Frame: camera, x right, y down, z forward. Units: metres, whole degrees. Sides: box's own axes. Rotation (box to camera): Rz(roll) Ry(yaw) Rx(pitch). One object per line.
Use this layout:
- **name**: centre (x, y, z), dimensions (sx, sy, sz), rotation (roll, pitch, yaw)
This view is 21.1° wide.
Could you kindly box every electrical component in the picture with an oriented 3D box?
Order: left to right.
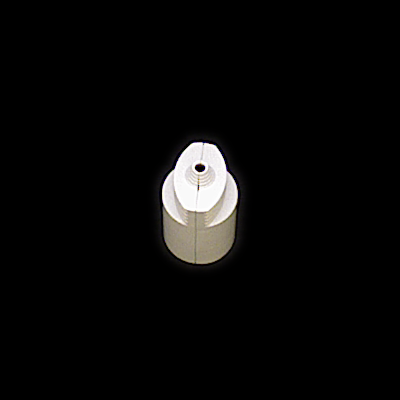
- **electrical component**: centre (0.000, 0.000, 0.617), dimensions (0.043, 0.043, 0.081), rotation (0, -27, 0)
